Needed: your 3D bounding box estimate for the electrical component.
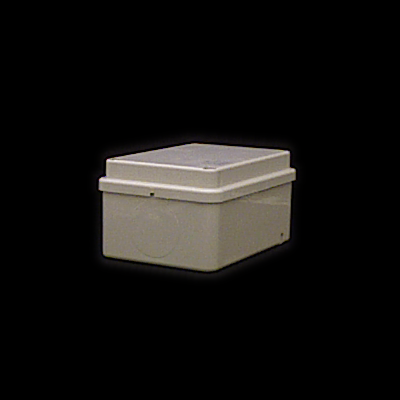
[{"bbox_3d":[0.000,0.000,0.643,0.078,0.057,0.113,7,11,27],"label":"electrical component"}]
